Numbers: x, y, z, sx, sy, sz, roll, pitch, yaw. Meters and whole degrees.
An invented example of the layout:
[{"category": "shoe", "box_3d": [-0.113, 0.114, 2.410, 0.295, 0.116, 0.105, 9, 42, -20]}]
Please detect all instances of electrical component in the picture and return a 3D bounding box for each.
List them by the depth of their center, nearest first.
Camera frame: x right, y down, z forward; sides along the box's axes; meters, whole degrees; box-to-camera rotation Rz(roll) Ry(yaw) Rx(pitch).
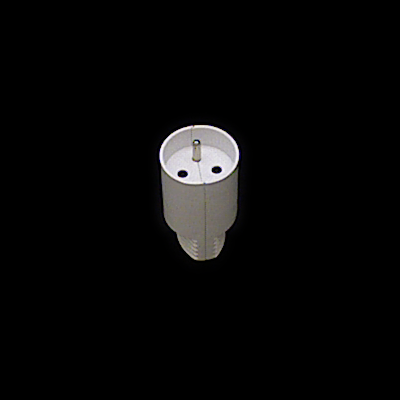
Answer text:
[{"category": "electrical component", "box_3d": [0.000, 0.000, 0.619, 0.043, 0.043, 0.081, 0, -39, -1]}]
